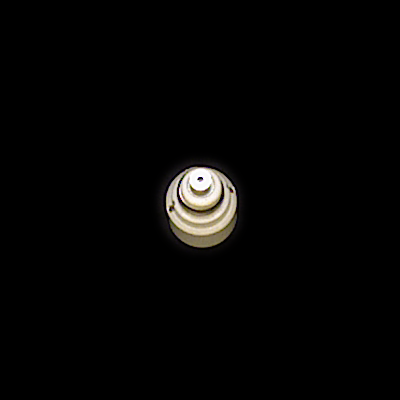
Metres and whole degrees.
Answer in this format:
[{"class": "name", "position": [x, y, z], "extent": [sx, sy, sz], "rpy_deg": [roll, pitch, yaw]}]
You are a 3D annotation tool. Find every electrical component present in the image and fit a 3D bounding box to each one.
[{"class": "electrical component", "position": [0.000, 0.000, 0.618], "extent": [0.040, 0.040, 0.078], "rpy_deg": [0, -16, 1]}]
